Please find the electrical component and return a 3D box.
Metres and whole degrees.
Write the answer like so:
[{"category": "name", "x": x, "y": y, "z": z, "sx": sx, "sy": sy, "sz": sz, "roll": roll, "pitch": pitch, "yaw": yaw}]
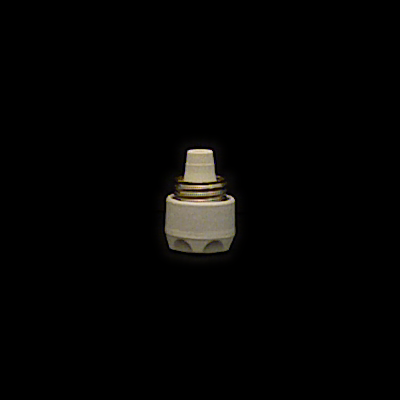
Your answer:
[{"category": "electrical component", "x": 0.000, "y": 0.000, "z": 0.652, "sx": 0.043, "sy": 0.062, "sz": 0.043, "roll": 0, "pitch": 11, "yaw": 0}]
